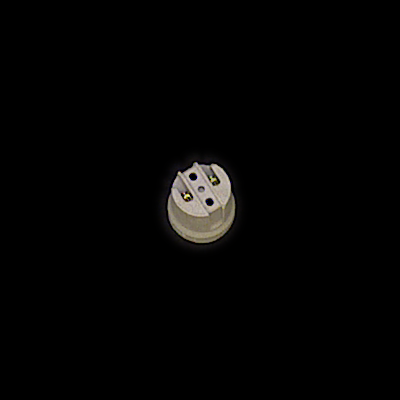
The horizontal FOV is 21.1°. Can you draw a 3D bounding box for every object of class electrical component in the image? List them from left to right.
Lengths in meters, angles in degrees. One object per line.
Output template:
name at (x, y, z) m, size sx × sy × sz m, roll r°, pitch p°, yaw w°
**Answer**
electrical component at (0.000, 0.000, 0.633) m, size 0.040 × 0.040 × 0.046 m, roll 0°, pitch -17°, yaw 0°
